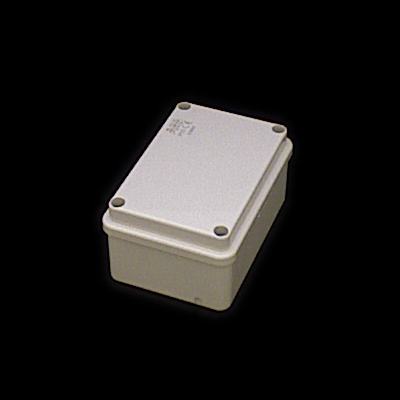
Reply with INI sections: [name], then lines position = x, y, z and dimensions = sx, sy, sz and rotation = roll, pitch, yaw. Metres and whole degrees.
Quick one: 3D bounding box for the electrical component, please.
[electrical component]
position = 0.000, 0.000, 0.631
dimensions = 0.078, 0.057, 0.112
rotation = 15, 44, 15
